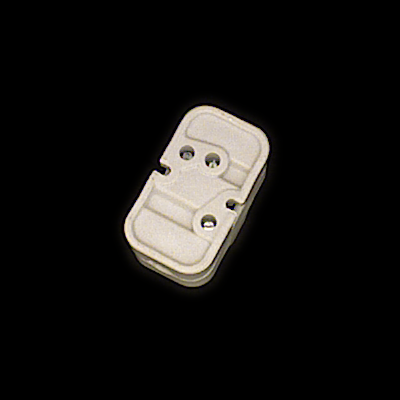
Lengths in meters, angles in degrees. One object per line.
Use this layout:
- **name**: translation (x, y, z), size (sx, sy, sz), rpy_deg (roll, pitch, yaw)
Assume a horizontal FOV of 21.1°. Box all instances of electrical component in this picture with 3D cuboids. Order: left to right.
- **electrical component**: translation (0.000, 0.000, 0.635), size (0.053, 0.096, 0.059), rpy_deg (27, -14, 8)
